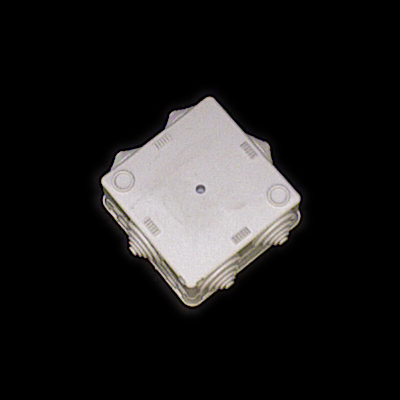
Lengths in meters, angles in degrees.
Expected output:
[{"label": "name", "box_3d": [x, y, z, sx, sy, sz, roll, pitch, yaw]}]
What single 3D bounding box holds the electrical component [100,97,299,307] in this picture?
[{"label": "electrical component", "box_3d": [0.000, 0.000, 0.631, 0.100, 0.100, 0.048, -38, -13, -10]}]
